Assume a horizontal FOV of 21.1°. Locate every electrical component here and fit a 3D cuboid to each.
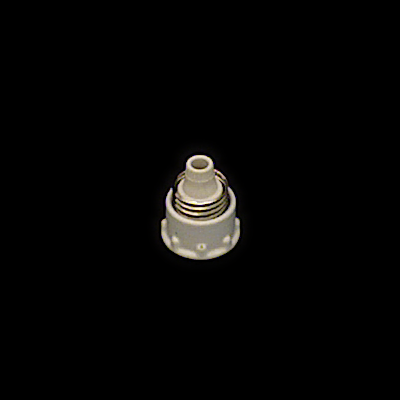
[{"bbox_3d":[0.000,0.000,0.636,0.048,0.062,0.047,0,43,1],"label":"electrical component"}]
